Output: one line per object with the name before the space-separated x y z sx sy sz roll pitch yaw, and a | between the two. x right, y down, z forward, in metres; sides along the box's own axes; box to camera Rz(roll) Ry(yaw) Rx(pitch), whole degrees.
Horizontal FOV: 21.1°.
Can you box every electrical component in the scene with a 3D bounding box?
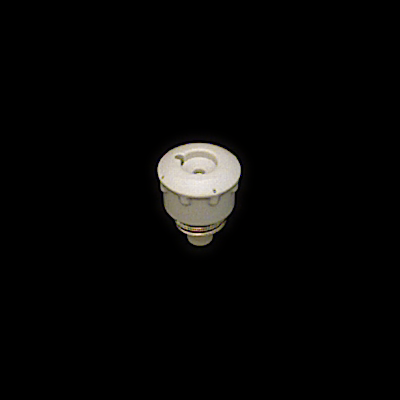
electrical component | 0.000 0.000 0.636 0.048 0.062 0.048 1 42 0
